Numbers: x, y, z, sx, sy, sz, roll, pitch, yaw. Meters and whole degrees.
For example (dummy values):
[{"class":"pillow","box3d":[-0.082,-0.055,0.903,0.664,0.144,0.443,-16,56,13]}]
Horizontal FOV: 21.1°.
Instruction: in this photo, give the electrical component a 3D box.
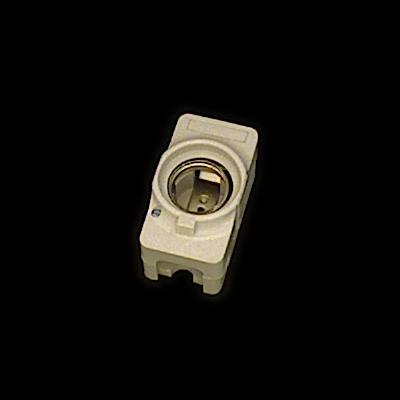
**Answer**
[{"class":"electrical component","box3d":[0.000,0.000,0.636,0.050,0.090,0.055,13,-26,7]}]
